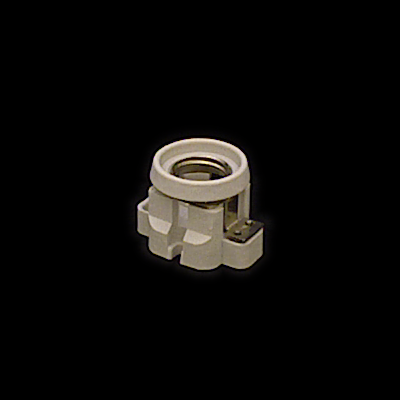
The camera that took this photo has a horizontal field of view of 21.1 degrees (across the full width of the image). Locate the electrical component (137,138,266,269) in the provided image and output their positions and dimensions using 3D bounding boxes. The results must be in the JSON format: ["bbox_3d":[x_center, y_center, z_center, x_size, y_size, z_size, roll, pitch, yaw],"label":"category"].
[{"bbox_3d":[0.000,0.000,0.635,0.078,0.057,0.057,19,36,27],"label":"electrical component"}]
